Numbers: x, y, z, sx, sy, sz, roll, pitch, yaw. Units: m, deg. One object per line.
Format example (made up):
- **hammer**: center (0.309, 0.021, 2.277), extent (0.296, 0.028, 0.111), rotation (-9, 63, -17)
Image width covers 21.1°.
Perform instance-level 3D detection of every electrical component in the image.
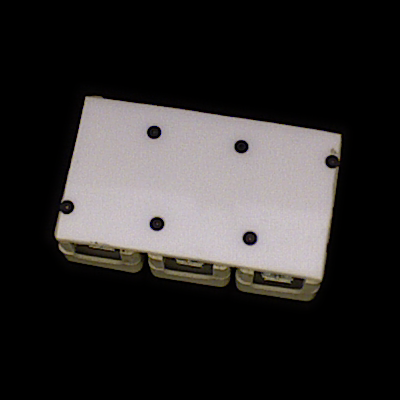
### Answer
- **electrical component**: center (0.000, 0.000, 0.630), extent (0.150, 0.089, 0.062), rotation (9, -17, 3)
